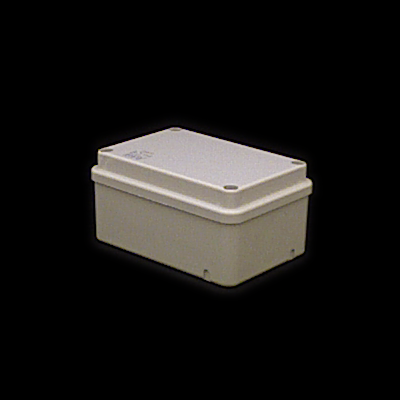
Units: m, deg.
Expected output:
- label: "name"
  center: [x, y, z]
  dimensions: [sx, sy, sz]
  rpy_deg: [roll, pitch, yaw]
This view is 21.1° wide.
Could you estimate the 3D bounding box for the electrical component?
- label: "electrical component"
  center: [0.000, 0.000, 0.637]
  dimensions: [0.112, 0.058, 0.078]
  rpy_deg: [18, 27, 37]
